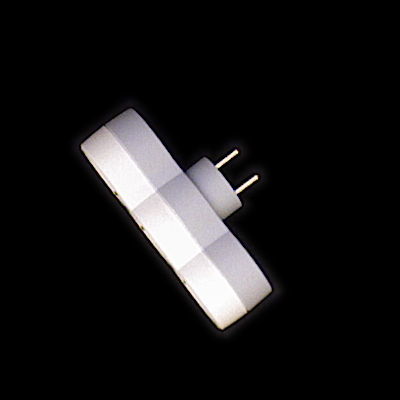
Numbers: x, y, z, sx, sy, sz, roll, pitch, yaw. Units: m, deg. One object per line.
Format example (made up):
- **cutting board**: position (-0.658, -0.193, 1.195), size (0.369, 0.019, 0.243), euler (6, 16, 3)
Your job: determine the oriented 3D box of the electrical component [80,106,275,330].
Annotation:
- **electrical component**: position (0.000, 0.000, 0.632), size (0.074, 0.138, 0.052), euler (-38, -6, -6)
